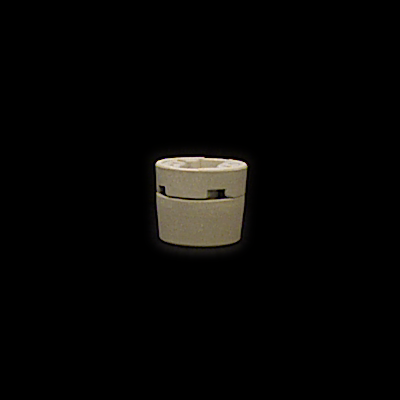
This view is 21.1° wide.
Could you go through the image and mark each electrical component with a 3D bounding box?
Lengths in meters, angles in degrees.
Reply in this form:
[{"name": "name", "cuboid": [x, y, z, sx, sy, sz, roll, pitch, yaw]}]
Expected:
[{"name": "electrical component", "cuboid": [0.000, 0.000, 0.647, 0.055, 0.047, 0.055, 1, 11, 0]}]
